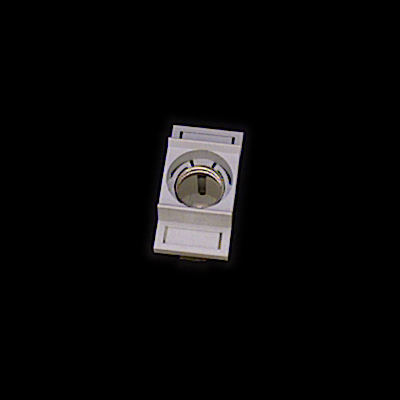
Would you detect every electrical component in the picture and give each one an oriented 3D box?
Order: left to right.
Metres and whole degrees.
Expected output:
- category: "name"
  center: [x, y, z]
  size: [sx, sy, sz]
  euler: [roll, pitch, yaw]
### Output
- category: "electrical component"
  center: [0.000, 0.000, 0.623]
  size: [0.042, 0.081, 0.063]
  euler: [7, -27, 2]
